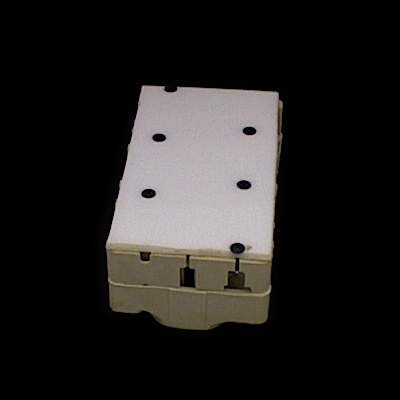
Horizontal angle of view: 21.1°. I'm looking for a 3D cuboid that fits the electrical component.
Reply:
[{"bbox_3d":[0.000,0.000,0.639,0.089,0.063,0.147,4,41,4],"label":"electrical component"}]
